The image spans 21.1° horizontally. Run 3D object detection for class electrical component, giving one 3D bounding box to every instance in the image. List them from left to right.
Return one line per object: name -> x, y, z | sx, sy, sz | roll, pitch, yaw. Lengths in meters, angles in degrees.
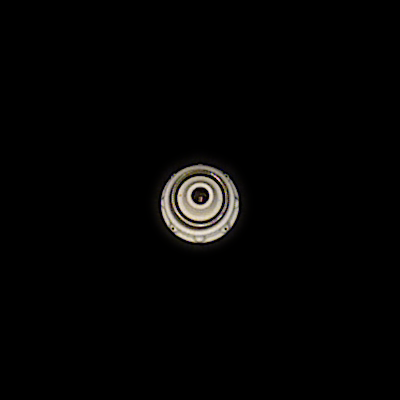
electrical component -> 0.000, 0.000, 0.635 | 0.048, 0.048, 0.062 | 0, -5, -1
